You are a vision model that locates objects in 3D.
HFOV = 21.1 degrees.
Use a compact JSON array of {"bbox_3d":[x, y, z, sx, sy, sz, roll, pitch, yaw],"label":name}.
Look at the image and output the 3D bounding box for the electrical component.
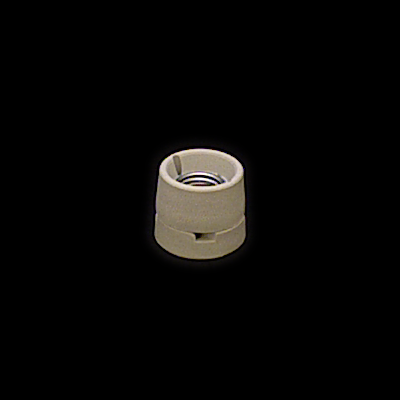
[{"bbox_3d":[0.000,0.000,0.637,0.055,0.047,0.055,1,32,-1],"label":"electrical component"}]
